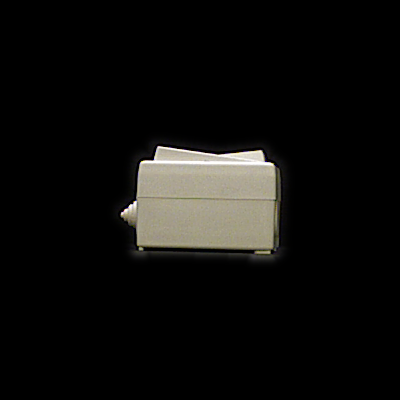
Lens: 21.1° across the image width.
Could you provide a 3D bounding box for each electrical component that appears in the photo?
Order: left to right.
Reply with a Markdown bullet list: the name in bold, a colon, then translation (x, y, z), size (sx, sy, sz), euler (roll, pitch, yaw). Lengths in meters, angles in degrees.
- **electrical component**: translation (0.000, 0.000, 0.650), size (0.096, 0.061, 0.062), euler (2, 0, 7)
